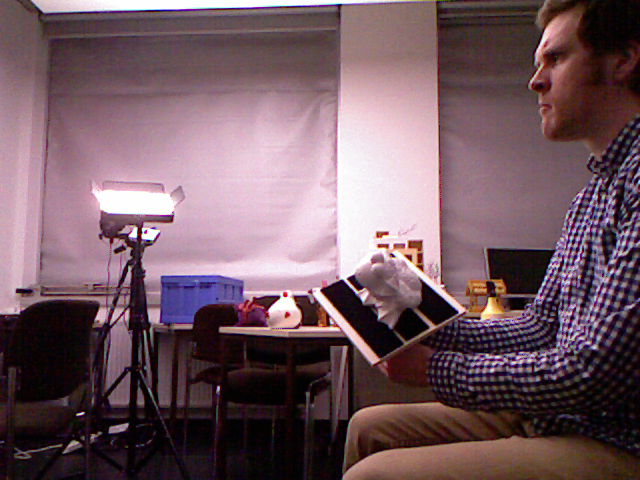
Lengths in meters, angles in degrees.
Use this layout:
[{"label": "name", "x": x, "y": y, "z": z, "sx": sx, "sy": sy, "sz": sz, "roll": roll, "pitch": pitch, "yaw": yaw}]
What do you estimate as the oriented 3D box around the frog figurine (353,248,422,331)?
[{"label": "frog figurine", "x": 0.116, "y": 0.062, "z": 0.896, "sx": 0.123, "sy": 0.156, "sz": 0.141, "roll": -15, "pitch": 44, "yaw": -8}]
